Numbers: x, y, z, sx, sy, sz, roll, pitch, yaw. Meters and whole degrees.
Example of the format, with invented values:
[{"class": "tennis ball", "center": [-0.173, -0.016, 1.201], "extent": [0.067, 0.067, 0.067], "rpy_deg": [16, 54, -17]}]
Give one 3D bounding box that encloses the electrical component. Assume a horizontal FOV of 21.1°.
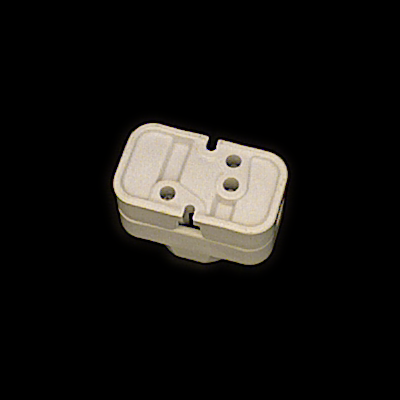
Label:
[{"class": "electrical component", "center": [0.000, 0.000, 0.636], "extent": [0.095, 0.054, 0.059], "rpy_deg": [14, -26, 8]}]
